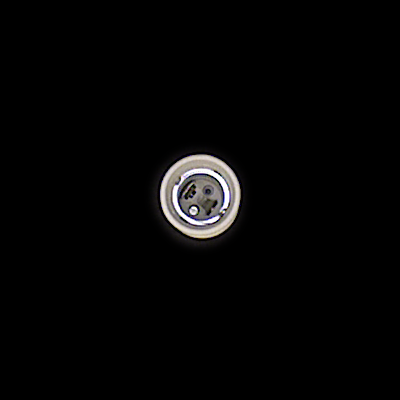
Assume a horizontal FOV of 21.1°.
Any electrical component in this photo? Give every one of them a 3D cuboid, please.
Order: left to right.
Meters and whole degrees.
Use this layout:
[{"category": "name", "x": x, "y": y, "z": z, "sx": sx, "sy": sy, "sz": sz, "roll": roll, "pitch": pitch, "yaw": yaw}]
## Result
[{"category": "electrical component", "x": 0.000, "y": 0.000, "z": 0.629, "sx": 0.045, "sy": 0.045, "sz": 0.055, "roll": 0, "pitch": -7, "yaw": 1}]
